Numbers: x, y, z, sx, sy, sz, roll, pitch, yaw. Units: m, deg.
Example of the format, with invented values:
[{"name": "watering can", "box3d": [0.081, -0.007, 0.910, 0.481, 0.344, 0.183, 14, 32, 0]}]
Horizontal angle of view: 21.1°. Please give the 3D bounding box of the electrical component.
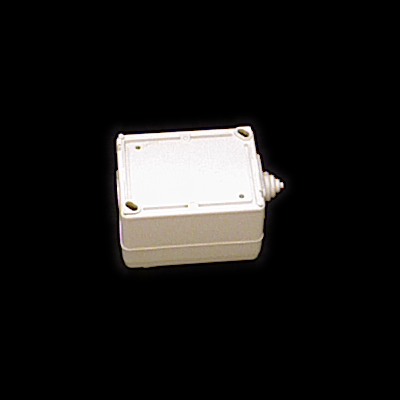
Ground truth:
[{"name": "electrical component", "box3d": [0.000, 0.000, 0.628, 0.096, 0.061, 0.061, -4, -38, -4]}]
